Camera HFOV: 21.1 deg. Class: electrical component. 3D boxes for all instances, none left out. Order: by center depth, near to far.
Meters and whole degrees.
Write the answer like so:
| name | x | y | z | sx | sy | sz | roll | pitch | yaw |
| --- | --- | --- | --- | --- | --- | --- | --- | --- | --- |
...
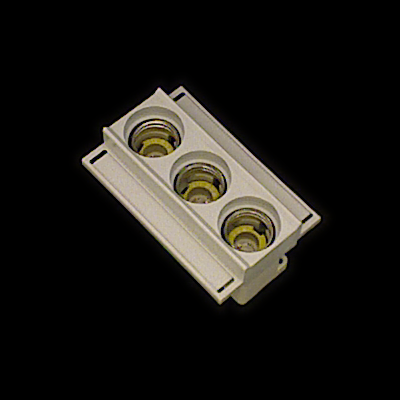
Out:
| name | x | y | z | sx | sy | sz | roll | pitch | yaw |
| --- | --- | --- | --- | --- | --- | --- | --- | --- | --- |
| electrical component | 0.000 | 0.000 | 0.638 | 0.079 | 0.121 | 0.063 | -38 | -21 | -19 |
